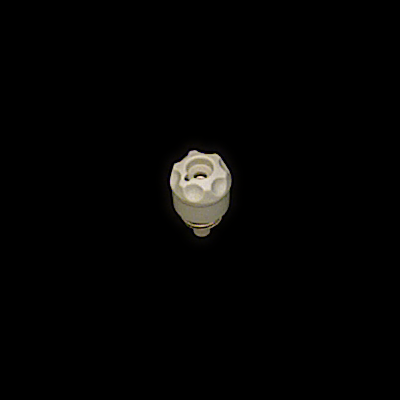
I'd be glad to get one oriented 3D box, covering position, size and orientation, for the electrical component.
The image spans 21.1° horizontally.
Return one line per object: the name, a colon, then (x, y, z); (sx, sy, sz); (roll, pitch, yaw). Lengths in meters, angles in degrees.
electrical component: (0.000, 0.000, 0.634); (0.035, 0.035, 0.061); (0, -37, 1)
